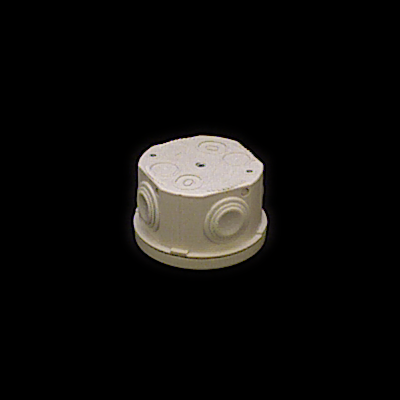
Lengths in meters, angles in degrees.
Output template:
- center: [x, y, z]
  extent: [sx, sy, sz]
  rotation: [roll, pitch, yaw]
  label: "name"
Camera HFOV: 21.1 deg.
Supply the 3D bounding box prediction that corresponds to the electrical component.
- center: [0.000, 0.000, 0.637]
  extent: [0.080, 0.051, 0.079]
  rotation: [0, 31, 0]
  label: "electrical component"
